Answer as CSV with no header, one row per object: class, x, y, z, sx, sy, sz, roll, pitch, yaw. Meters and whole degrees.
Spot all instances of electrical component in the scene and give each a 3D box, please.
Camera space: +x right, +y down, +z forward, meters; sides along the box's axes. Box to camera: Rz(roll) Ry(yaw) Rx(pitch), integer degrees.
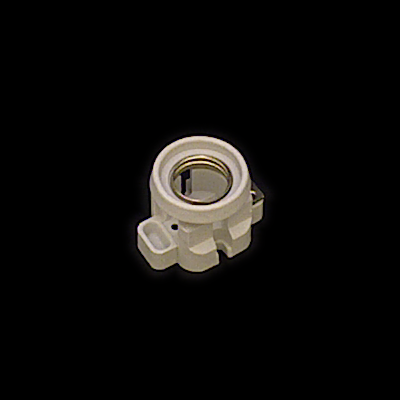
electrical component,0.000,0.000,0.630,0.078,0.057,0.057,-26,-33,-19
